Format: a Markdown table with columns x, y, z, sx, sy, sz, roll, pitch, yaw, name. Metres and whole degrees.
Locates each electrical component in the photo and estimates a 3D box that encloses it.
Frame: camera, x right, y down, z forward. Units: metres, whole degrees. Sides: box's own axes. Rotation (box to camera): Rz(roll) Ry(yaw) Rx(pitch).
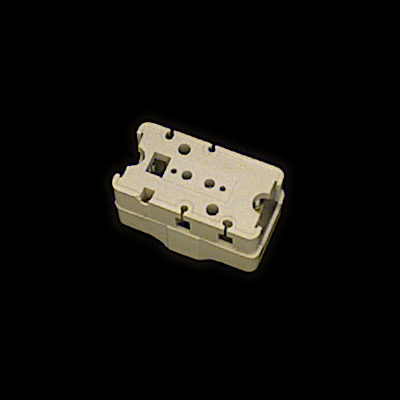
| x | y | z | sx | sy | sz | roll | pitch | yaw | name |
| --- | --- | --- | --- | --- | --- | --- | --- | --- | --- |
| 0.000 | 0.000 | 0.636 | 0.089 | 0.050 | 0.055 | 20 | -24 | 10 | electrical component |
